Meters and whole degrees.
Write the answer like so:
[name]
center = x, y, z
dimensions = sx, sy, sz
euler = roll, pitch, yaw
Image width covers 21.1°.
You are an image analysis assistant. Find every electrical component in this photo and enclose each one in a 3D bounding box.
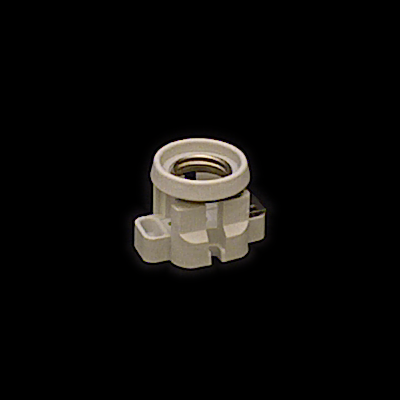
[electrical component]
center = 0.000, 0.000, 0.636
dimensions = 0.078, 0.057, 0.057
euler = -11, 34, -20
